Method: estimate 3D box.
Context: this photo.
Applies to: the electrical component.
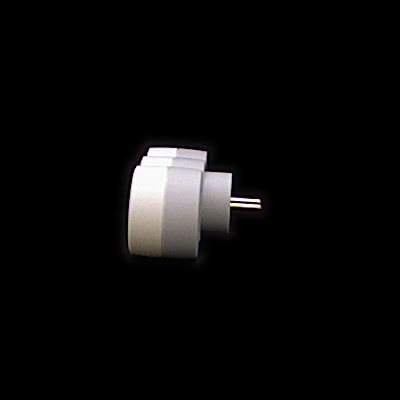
[{"bbox_3d":[0.000,0.000,0.648,0.074,0.052,0.137,3,9,1],"label":"electrical component"}]
